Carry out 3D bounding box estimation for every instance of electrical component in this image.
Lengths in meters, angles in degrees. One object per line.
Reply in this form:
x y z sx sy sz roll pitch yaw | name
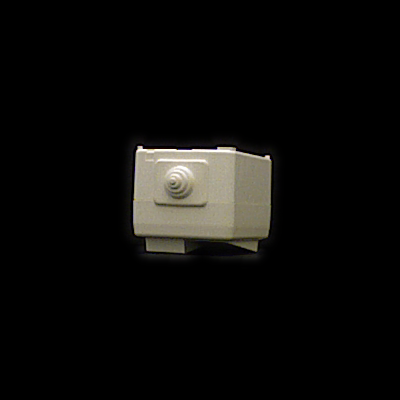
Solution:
0.000 0.000 0.642 0.061 0.061 0.096 2 0 20 | electrical component
